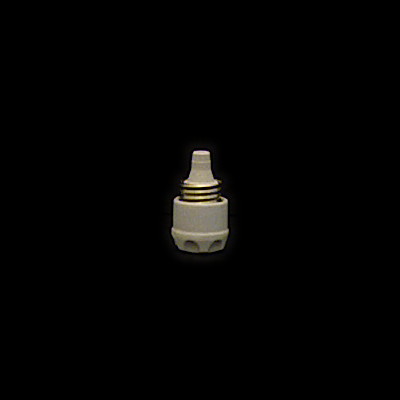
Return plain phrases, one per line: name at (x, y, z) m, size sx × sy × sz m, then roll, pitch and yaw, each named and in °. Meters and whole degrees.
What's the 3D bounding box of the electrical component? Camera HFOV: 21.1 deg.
electrical component at (0.000, 0.000, 0.658) m, size 0.035 × 0.062 × 0.035 m, roll 1°, pitch 14°, yaw 0°
